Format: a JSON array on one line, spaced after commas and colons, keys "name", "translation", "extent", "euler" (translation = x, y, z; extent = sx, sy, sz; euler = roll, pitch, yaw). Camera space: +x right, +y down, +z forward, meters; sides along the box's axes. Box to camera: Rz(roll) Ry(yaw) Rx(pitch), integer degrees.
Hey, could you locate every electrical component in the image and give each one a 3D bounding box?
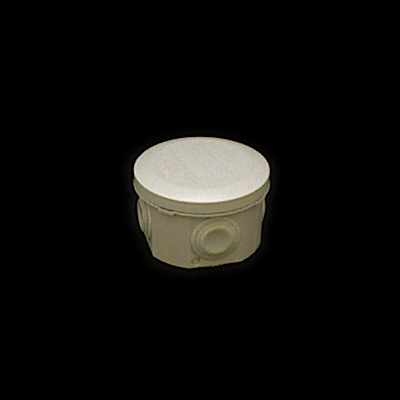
[{"name": "electrical component", "translation": [0.000, 0.000, 0.638], "extent": [0.080, 0.051, 0.079], "euler": [1, 31, 0]}]
